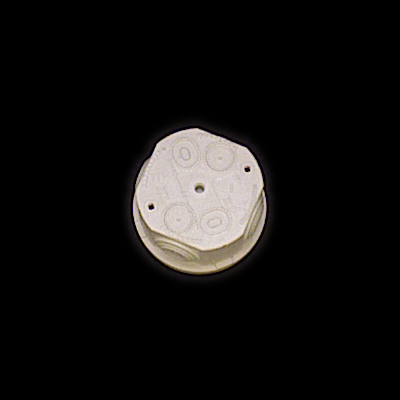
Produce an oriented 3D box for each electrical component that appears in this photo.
[{"bbox_3d":[0.000,0.000,0.632,0.080,0.080,0.050,0,-17,-1],"label":"electrical component"}]
